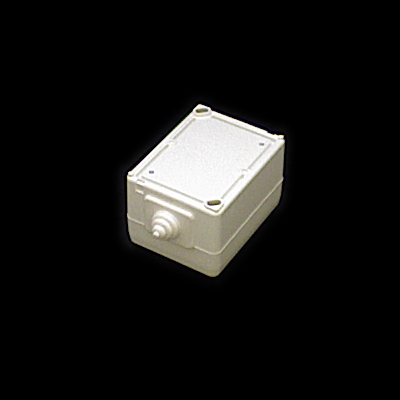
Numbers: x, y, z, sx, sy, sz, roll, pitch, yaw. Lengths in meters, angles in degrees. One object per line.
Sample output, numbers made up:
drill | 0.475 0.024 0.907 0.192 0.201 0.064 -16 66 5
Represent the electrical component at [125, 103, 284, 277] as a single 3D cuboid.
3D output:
electrical component | 0.000 0.000 0.625 0.061 0.061 0.096 23 46 22
